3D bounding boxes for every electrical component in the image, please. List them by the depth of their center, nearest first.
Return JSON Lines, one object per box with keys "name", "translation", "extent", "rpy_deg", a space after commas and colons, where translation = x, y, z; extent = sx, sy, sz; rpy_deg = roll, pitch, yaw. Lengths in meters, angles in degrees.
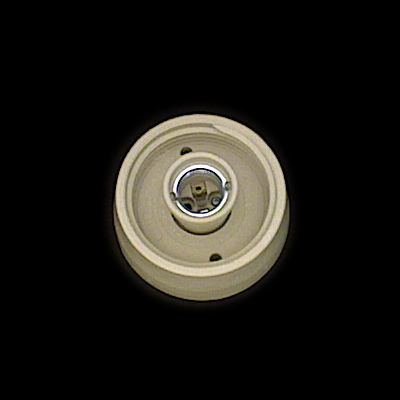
{"name": "electrical component", "translation": [0.000, 0.000, 0.634], "extent": [0.108, 0.108, 0.060], "rpy_deg": [0, -16, 0]}
